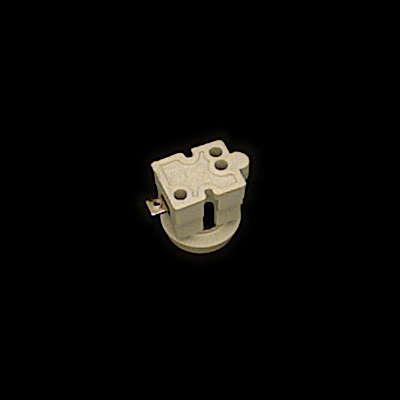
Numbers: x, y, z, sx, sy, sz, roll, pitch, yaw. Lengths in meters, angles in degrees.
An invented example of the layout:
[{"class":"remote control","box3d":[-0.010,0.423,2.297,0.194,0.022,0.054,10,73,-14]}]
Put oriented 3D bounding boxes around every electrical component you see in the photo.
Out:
[{"class":"electrical component","box3d":[0.000,0.000,0.639,0.067,0.048,0.056,-19,-33,-13]}]
